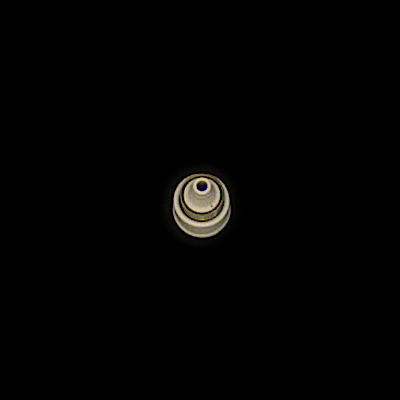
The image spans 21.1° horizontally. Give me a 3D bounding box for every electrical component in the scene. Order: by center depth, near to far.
[{"bbox_3d":[0.000,0.000,0.637,0.035,0.035,0.061,0,-16,0],"label":"electrical component"}]
